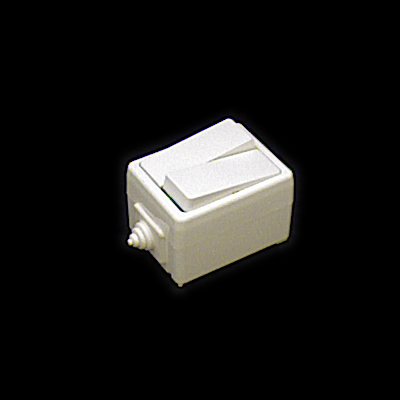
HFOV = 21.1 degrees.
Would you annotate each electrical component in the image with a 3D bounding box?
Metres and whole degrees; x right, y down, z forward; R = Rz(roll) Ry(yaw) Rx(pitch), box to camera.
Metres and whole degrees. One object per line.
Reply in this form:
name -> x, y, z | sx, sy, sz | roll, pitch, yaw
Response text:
electrical component -> 0.000, 0.000, 0.630 | 0.096, 0.061, 0.061 | -22, 46, -24
